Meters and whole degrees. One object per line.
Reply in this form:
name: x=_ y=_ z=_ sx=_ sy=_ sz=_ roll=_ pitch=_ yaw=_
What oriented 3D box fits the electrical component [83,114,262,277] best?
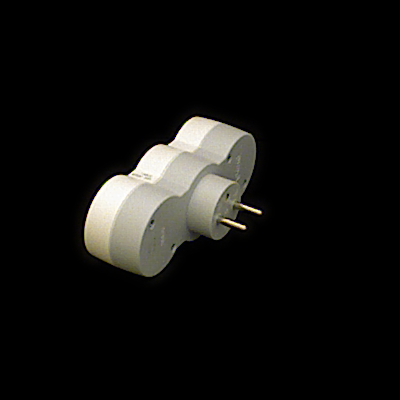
electrical component: x=0.000 y=0.000 z=0.641 sx=0.073 sy=0.053 sz=0.138 roll=20 pitch=36 yaw=25
